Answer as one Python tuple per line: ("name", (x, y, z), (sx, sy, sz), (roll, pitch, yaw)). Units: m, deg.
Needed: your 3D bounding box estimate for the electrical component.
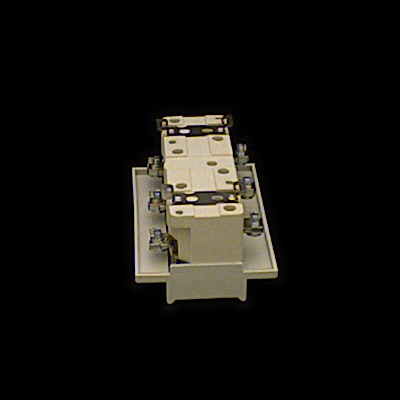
("electrical component", (0.000, 0.000, 0.640), (0.079, 0.064, 0.119), (-2, 32, -4))
